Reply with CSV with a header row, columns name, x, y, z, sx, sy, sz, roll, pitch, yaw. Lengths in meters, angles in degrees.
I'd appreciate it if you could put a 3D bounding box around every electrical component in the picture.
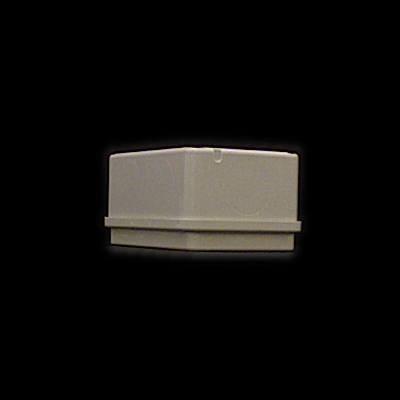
name,x,y,z,sx,sy,sz,roll,pitch,yaw
electrical component,0.000,0.000,0.649,0.078,0.057,0.113,1,0,-30
